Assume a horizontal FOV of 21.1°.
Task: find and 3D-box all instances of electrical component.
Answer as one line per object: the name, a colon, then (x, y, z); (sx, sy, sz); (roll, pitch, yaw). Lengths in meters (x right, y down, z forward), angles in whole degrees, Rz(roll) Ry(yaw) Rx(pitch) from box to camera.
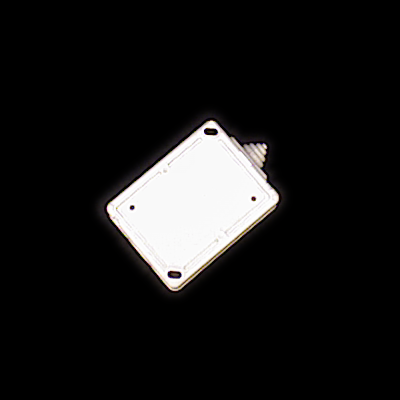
electrical component: (0.000, 0.000, 0.629); (0.096, 0.062, 0.061); (-40, -5, -5)
